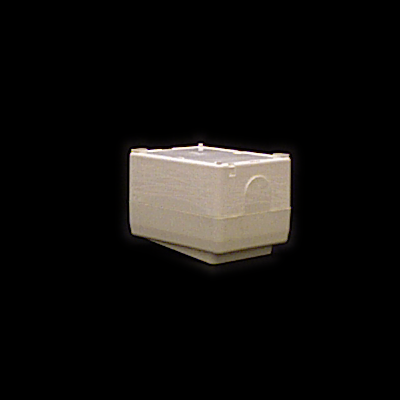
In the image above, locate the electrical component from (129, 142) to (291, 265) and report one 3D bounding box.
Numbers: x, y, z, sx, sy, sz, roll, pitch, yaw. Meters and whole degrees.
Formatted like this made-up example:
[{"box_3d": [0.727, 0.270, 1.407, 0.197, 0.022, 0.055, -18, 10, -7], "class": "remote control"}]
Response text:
[{"box_3d": [0.000, 0.000, 0.648, 0.061, 0.061, 0.095, -9, 14, -43], "class": "electrical component"}]
